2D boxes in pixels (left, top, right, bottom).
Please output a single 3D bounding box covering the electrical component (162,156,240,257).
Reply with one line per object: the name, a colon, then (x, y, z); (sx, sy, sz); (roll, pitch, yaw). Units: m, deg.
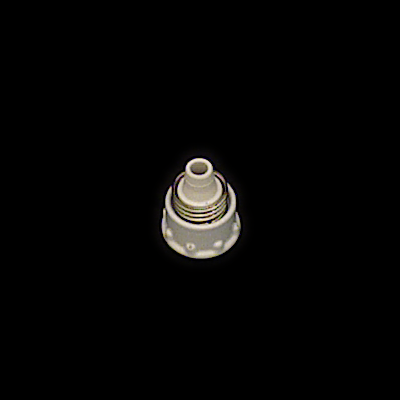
electrical component: (0.000, 0.000, 0.635); (0.048, 0.048, 0.062); (0, -38, 0)
